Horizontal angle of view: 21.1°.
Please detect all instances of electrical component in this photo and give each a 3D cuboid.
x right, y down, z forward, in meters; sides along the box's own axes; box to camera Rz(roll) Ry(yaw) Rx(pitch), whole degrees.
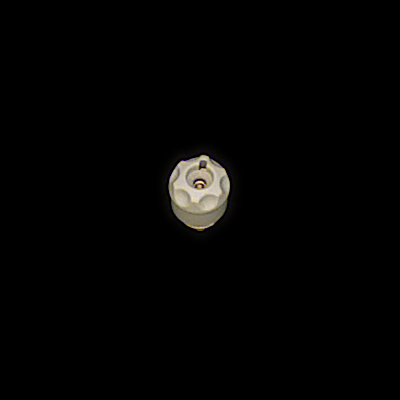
[{"bbox_3d":[0.000,0.000,0.635,0.035,0.035,0.061,0,-27,0],"label":"electrical component"}]
